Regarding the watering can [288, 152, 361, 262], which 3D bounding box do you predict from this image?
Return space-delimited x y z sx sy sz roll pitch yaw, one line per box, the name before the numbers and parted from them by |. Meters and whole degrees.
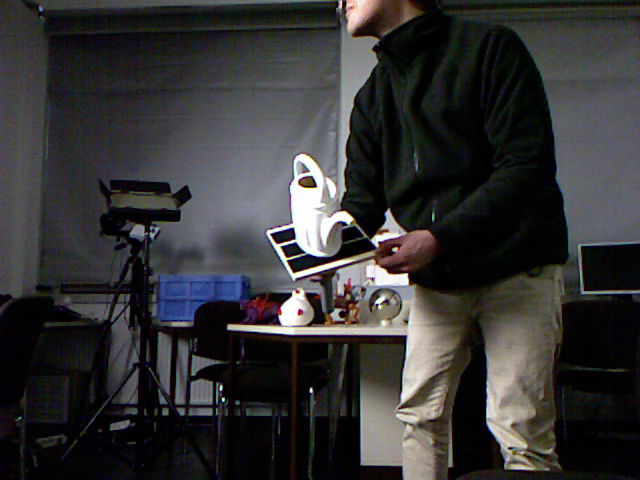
watering can | 0.004 -0.049 1.080 0.104 0.219 0.355 -16 35 -14
